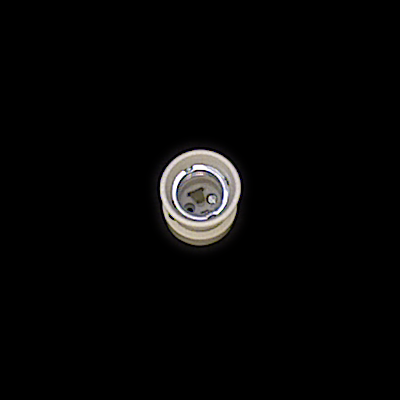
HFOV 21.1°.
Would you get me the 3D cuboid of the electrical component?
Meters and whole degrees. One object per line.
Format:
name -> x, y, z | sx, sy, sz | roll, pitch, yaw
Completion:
electrical component -> 0.000, 0.000, 0.628 | 0.045, 0.045, 0.055 | 0, -16, 0
